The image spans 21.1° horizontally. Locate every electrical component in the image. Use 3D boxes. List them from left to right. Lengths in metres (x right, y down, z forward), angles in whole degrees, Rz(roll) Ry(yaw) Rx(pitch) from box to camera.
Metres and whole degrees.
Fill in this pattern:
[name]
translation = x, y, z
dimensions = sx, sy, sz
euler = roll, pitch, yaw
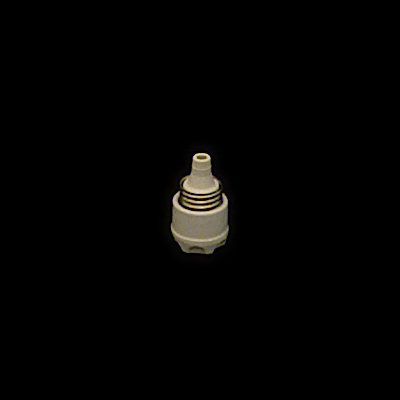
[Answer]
[electrical component]
translation = 0.000, 0.000, 0.647
dimensions = 0.035, 0.062, 0.034
euler = 2, 32, -1
